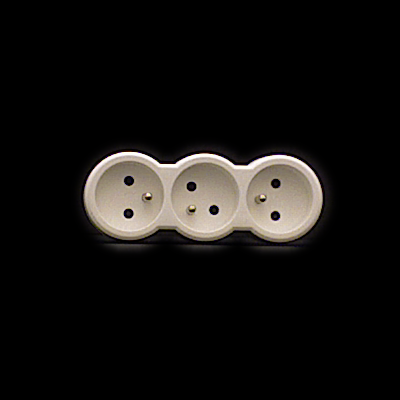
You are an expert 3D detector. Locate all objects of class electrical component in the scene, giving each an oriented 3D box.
[{"bbox_3d":[0.000,0.000,0.649,0.138,0.052,0.073,1,-2,-6],"label":"electrical component"}]
